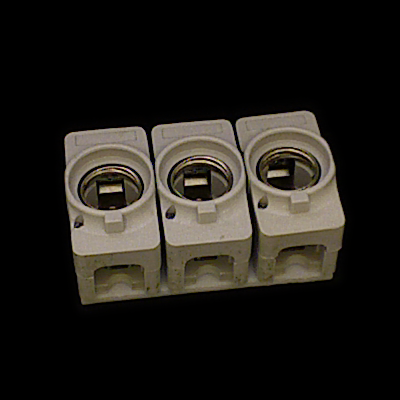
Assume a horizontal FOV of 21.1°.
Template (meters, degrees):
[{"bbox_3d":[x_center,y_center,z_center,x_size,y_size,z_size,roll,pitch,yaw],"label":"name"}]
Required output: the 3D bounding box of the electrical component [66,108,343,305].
[{"bbox_3d":[0.000,0.000,0.633,0.150,0.088,0.062,-6,-37,-5],"label":"electrical component"}]
